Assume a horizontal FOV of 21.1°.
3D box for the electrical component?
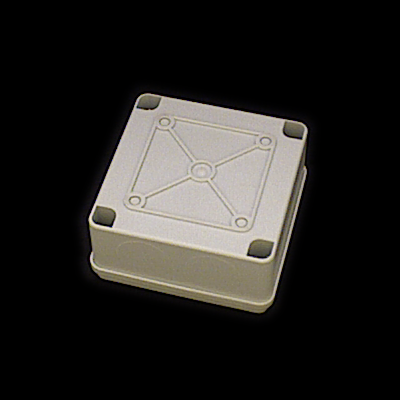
[{"bbox_3d":[0.000,0.000,0.630,0.108,0.108,0.056,12,-37,9],"label":"electrical component"}]
